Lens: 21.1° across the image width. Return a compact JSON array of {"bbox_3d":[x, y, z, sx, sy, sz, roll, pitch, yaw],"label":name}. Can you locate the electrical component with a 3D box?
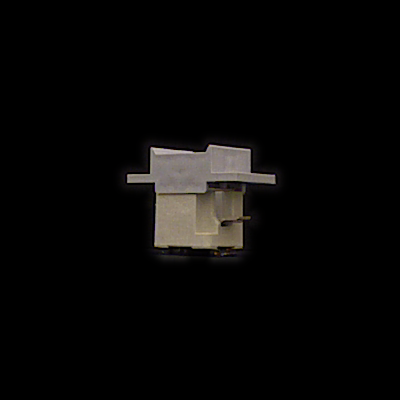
[{"bbox_3d":[0.000,0.000,0.648,0.081,0.063,0.042,1,0,37],"label":"electrical component"}]
